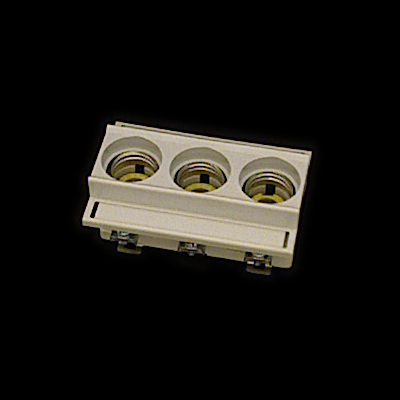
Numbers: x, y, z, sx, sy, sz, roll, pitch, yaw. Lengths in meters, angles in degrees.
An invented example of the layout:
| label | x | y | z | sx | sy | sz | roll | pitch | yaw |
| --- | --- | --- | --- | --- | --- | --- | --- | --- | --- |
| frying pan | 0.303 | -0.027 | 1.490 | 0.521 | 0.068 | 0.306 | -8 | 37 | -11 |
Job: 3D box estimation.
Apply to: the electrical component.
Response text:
| label | x | y | z | sx | sy | sz | roll | pitch | yaw |
| --- | --- | --- | --- | --- | --- | --- | --- | --- | --- |
| electrical component | 0.000 | 0.000 | 0.640 | 0.121 | 0.078 | 0.063 | 9 | -38 | 7 |
